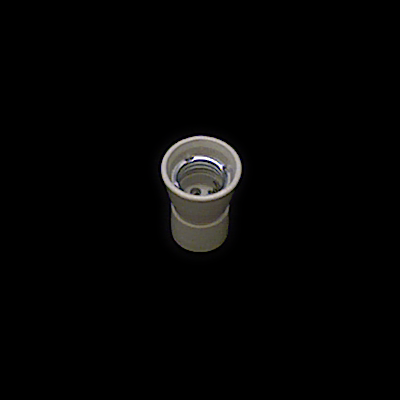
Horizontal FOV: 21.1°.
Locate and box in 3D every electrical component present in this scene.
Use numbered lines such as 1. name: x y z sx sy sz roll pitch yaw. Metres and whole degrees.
1. electrical component: 0.000 0.000 0.625 0.044 0.044 0.065 0 -37 -1
